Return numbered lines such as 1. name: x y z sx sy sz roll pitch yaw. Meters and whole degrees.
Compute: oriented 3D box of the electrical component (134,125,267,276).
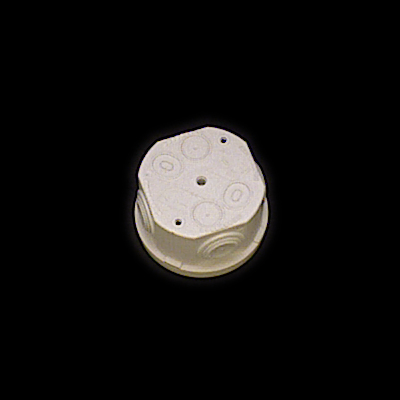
1. electrical component: 0.000 0.000 0.632 0.080 0.080 0.050 0 -28 0
